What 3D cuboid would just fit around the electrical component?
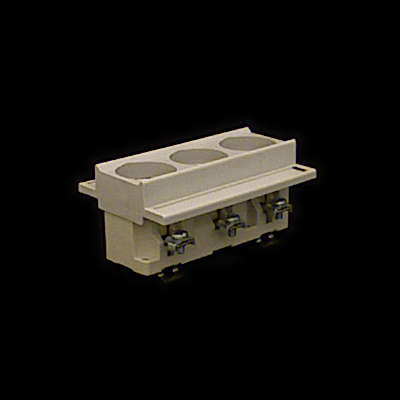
[{"bbox_3d":[0.000,0.000,0.651,0.121,0.064,0.077,-17,26,-39],"label":"electrical component"}]
